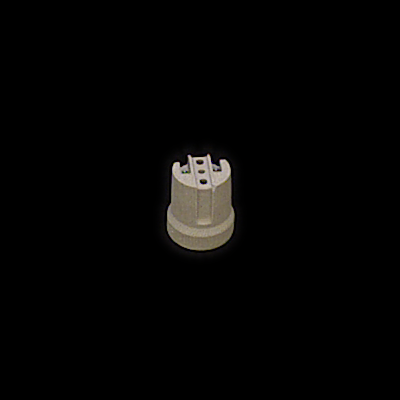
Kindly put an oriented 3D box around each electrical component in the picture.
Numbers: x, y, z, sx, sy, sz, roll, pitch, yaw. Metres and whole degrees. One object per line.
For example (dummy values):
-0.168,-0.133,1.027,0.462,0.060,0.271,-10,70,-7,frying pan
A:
0.000,0.000,0.637,0.040,0.046,0.040,1,42,-1,electrical component
